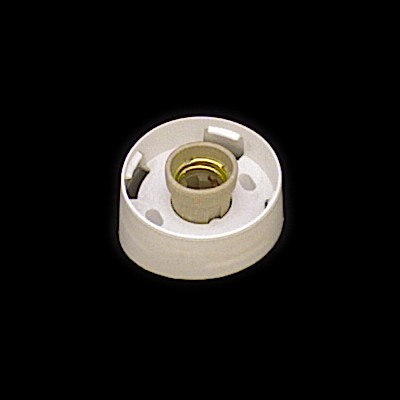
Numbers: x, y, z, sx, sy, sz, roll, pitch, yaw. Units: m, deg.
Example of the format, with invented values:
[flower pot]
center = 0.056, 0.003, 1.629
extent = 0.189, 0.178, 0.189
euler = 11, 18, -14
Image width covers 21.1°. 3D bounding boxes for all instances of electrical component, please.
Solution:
[electrical component]
center = 0.000, 0.000, 0.627
extent = 0.099, 0.098, 0.064
euler = 0, -38, 0
